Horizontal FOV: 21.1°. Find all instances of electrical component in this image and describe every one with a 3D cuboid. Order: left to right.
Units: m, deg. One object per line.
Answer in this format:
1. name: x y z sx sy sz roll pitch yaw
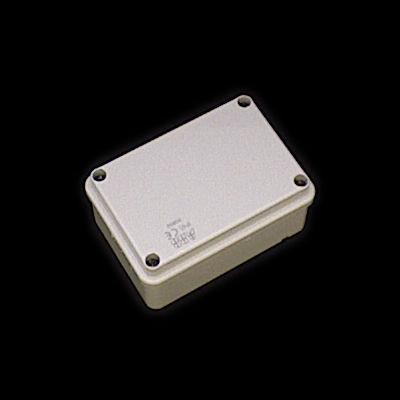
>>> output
1. electrical component: 0.000 0.000 0.626 0.113 0.078 0.057 -28 -23 -14
